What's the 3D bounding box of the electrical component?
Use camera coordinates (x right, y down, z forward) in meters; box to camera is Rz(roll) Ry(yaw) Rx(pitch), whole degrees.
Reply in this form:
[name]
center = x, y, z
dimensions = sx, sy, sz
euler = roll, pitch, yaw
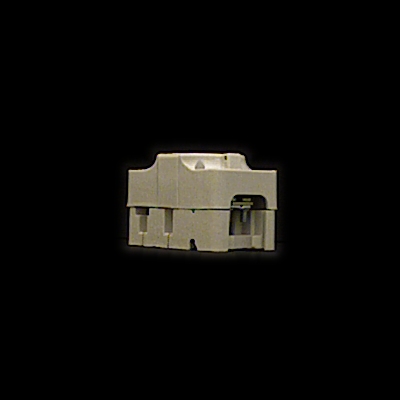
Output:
[electrical component]
center = 0.000, 0.000, 0.656
dimensions = 0.051, 0.056, 0.088
euler = 0, 1, -40
